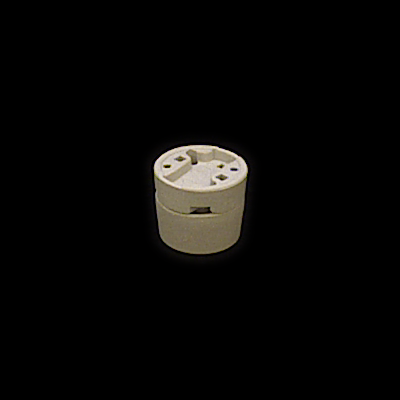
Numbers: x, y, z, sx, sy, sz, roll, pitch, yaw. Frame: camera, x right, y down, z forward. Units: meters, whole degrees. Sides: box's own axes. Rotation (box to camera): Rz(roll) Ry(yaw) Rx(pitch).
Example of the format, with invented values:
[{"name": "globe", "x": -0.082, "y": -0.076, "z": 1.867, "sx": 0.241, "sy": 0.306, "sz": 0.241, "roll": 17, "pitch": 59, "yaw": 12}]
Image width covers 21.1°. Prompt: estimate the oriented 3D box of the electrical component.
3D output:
[{"name": "electrical component", "x": 0.000, "y": 0.000, "z": 0.640, "sx": 0.055, "sy": 0.047, "sz": 0.055, "roll": 1, "pitch": 32, "yaw": 0}]
